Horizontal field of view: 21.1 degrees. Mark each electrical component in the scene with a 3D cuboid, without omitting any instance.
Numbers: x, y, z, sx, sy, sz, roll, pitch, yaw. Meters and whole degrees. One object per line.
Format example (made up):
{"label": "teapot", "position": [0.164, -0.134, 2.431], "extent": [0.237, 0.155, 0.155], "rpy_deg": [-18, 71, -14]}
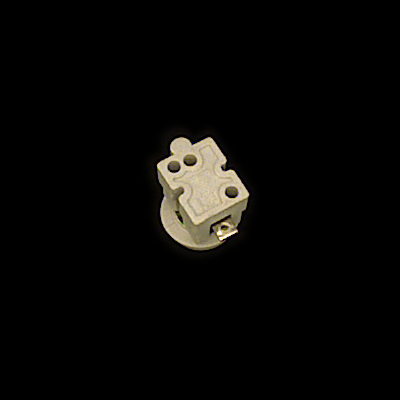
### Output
{"label": "electrical component", "position": [0.000, 0.000, 0.637], "extent": [0.049, 0.066, 0.055], "rpy_deg": [-27, -23, -14]}
